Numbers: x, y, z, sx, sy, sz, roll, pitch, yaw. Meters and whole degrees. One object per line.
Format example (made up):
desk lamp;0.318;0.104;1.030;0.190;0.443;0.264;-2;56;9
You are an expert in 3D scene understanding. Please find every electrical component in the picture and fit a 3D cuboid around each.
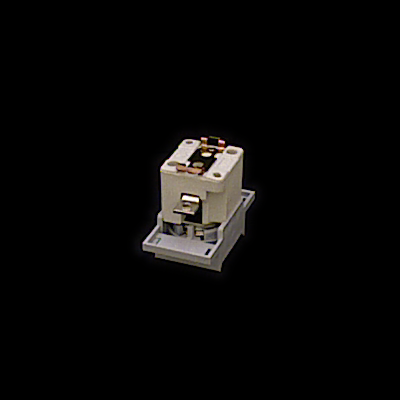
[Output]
electrical component;0.000;0.000;0.634;0.042;0.064;0.080;11;33;17
